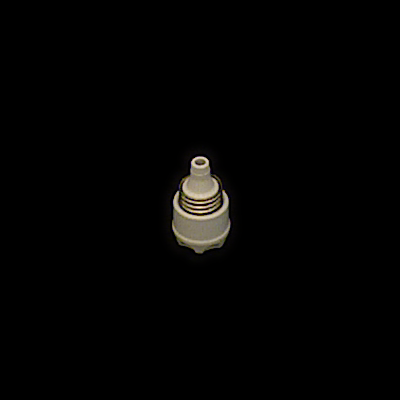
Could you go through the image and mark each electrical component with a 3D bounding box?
[{"bbox_3d":[0.000,0.000,0.641,0.035,0.062,0.035,0,41,1],"label":"electrical component"}]
